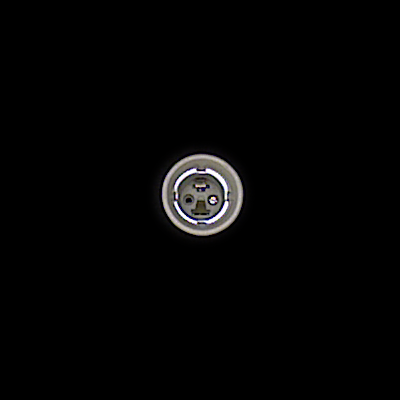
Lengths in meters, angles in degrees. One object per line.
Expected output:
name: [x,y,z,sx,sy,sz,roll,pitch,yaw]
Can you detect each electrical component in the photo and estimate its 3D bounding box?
electrical component: [0.000,0.000,0.625,0.044,0.044,0.065,0,-6,-1]
